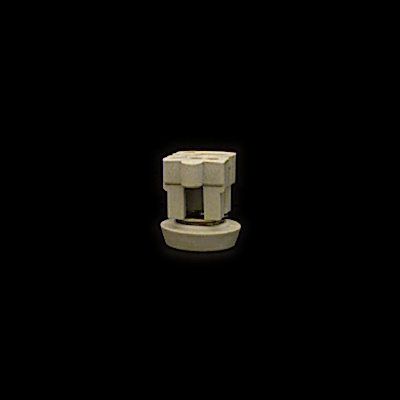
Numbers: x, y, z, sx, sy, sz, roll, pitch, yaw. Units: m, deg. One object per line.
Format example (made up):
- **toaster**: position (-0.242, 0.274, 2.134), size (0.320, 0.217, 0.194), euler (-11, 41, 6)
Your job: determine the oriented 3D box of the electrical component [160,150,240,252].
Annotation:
- **electrical component**: position (0.000, 0.000, 0.651), size (0.048, 0.056, 0.066), euler (2, 11, 11)
